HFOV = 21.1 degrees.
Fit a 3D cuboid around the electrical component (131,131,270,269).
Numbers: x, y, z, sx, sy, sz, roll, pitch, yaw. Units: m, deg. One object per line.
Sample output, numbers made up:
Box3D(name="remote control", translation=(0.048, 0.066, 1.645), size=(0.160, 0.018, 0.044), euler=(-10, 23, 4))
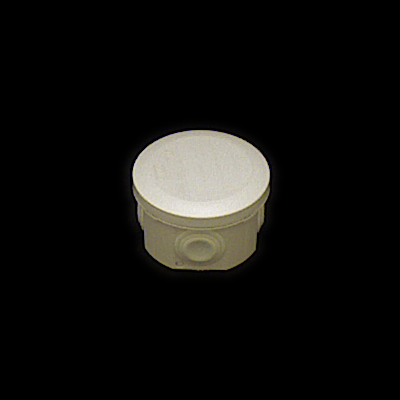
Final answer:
Box3D(name="electrical component", translation=(0.000, 0.000, 0.635), size=(0.080, 0.051, 0.079), euler=(1, 41, 0))
